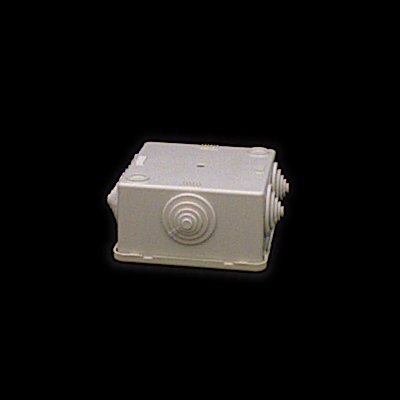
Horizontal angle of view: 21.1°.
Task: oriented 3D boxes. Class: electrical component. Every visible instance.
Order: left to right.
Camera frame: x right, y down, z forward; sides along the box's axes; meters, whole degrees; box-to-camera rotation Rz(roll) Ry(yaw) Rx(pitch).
[{"bbox_3d":[0.000,0.000,0.642,0.099,0.049,0.098,4,21,7],"label":"electrical component"}]
